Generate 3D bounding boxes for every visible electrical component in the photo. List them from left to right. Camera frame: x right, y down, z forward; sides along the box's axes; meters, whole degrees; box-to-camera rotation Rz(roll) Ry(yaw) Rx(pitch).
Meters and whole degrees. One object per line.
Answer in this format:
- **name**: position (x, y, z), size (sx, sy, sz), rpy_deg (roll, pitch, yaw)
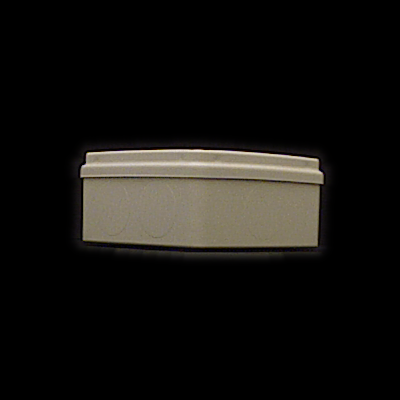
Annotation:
- **electrical component**: position (0.000, 0.000, 0.649), size (0.109, 0.056, 0.108), rpy_deg (1, 0, -44)
